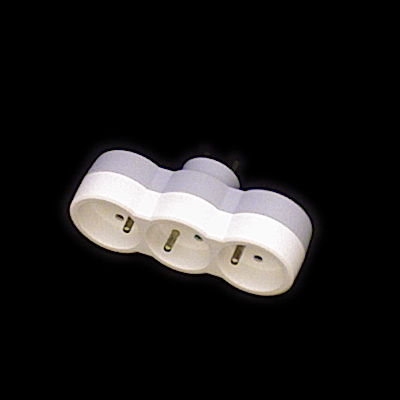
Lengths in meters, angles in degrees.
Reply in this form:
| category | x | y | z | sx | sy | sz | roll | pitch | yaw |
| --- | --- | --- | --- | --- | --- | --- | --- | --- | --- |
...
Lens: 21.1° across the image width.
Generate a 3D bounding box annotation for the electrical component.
| category | x | y | z | sx | sy | sz | roll | pitch | yaw |
| --- | --- | --- | --- | --- | --- | --- | --- | --- | --- |
| electrical component | 0.000 | 0.000 | 0.632 | 0.138 | 0.074 | 0.052 | 16 | -38 | 12 |
